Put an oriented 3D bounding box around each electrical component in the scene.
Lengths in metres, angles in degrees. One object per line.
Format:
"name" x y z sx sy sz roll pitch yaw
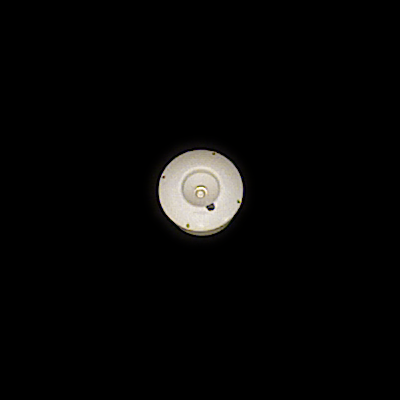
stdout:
"electrical component" 0.000 0.000 0.634 0.048 0.048 0.061 0 -16 1
